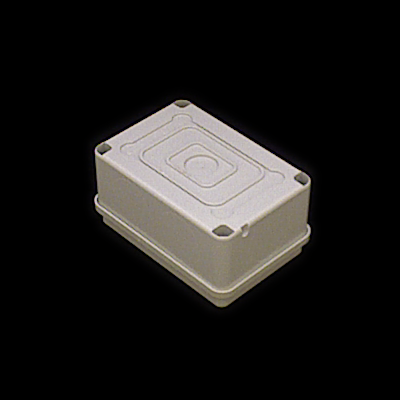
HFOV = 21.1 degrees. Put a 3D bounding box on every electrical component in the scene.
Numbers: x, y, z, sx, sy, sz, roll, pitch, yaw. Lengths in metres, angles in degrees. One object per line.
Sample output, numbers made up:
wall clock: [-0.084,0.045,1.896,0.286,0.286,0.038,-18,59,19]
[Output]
electrical component: [0.000,0.000,0.632,0.078,0.057,0.112,-33,51,-32]
